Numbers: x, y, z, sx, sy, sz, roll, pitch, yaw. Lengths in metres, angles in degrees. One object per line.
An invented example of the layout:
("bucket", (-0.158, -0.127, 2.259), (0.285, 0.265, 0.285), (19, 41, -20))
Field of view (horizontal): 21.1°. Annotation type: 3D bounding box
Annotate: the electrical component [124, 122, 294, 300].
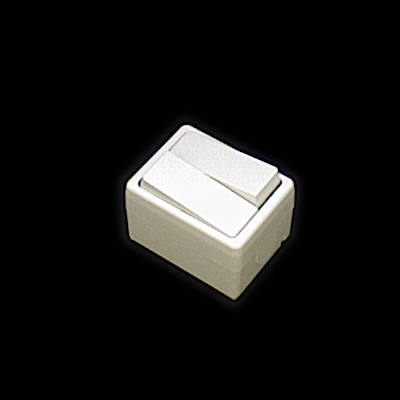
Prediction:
("electrical component", (0.000, 0.000, 0.629), (0.096, 0.062, 0.061), (30, -32, 21))
